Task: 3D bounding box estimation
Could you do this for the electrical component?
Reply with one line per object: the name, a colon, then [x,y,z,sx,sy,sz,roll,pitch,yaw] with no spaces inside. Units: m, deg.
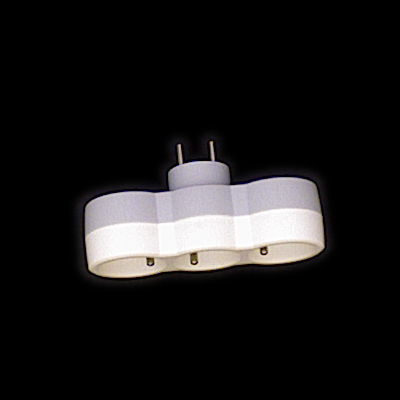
electrical component: [0.000,0.000,0.630,0.138,0.074,0.052,-6,-19,-1]
